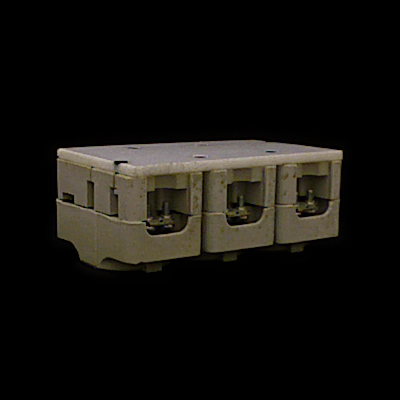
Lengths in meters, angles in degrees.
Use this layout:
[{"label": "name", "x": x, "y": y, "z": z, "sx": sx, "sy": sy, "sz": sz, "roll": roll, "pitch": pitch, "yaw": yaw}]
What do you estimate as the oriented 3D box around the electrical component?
[{"label": "electrical component", "x": 0.000, "y": 0.000, "z": 0.647, "sx": 0.150, "sy": 0.062, "sz": 0.088, "roll": -6, "pitch": 12, "yaw": -35}]
